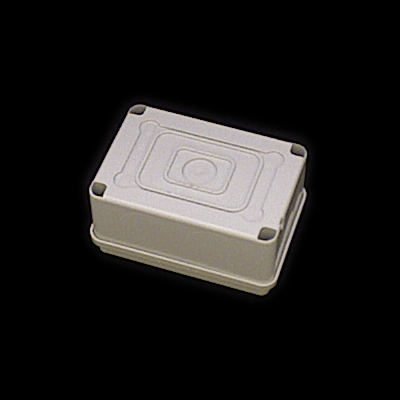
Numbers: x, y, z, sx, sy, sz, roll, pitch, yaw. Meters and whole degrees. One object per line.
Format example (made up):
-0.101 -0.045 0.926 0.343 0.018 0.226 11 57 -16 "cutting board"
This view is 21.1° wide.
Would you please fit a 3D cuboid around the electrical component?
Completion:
0.000 0.000 0.629 0.113 0.078 0.057 15 -36 11 "electrical component"
